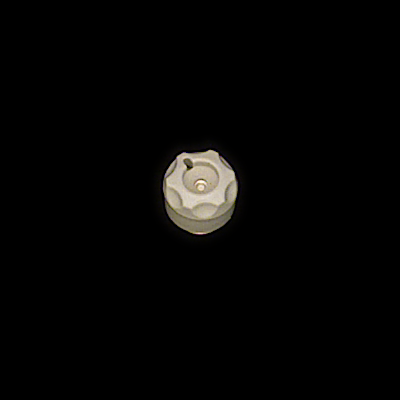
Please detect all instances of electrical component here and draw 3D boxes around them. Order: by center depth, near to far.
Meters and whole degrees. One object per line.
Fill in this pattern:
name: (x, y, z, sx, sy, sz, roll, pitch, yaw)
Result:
electrical component: (0.000, 0.000, 0.634, 0.043, 0.043, 0.062, 0, -26, 0)
